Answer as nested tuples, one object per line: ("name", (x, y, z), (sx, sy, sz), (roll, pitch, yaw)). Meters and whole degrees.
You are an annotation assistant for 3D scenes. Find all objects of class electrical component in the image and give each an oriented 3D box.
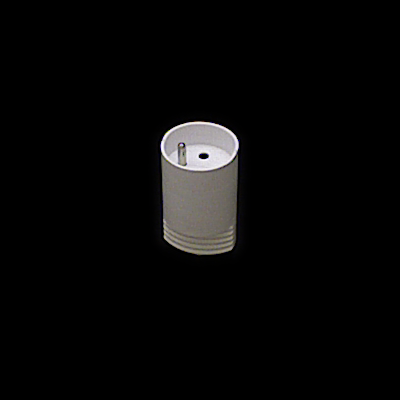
("electrical component", (0.000, 0.000, 0.621), (0.043, 0.082, 0.042), (0, 41, 0))
